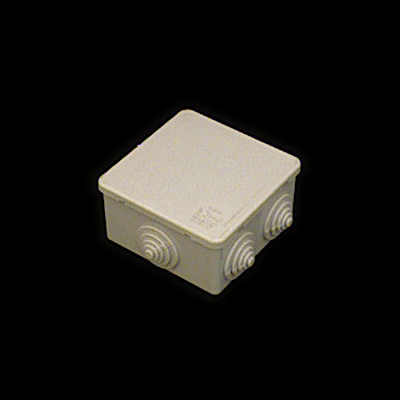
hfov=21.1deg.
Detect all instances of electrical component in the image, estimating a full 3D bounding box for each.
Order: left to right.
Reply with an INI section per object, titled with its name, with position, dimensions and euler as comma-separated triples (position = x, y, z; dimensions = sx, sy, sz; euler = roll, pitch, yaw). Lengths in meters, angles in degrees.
[electrical component]
position = 0.000, 0.000, 0.641
dimensions = 0.099, 0.049, 0.100
euler = 27, 48, 25
